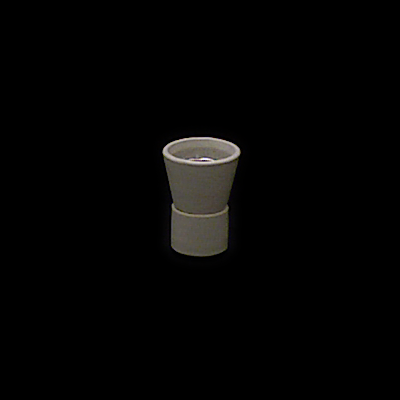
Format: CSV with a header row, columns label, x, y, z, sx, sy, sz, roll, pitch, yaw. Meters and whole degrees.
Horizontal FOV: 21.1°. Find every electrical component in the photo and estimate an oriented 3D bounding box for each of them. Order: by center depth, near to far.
label,x,y,z,sx,sy,sz,roll,pitch,yaw
electrical component,0.000,0.000,0.636,0.044,0.066,0.044,1,22,0
